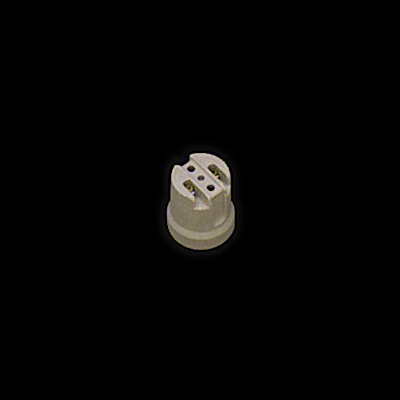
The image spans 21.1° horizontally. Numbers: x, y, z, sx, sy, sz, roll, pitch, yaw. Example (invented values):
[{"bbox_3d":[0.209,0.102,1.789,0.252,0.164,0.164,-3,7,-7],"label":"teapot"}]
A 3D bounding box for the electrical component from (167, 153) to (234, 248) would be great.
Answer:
[{"bbox_3d":[0.000,0.000,0.633,0.040,0.040,0.046,0,-37,0],"label":"electrical component"}]
